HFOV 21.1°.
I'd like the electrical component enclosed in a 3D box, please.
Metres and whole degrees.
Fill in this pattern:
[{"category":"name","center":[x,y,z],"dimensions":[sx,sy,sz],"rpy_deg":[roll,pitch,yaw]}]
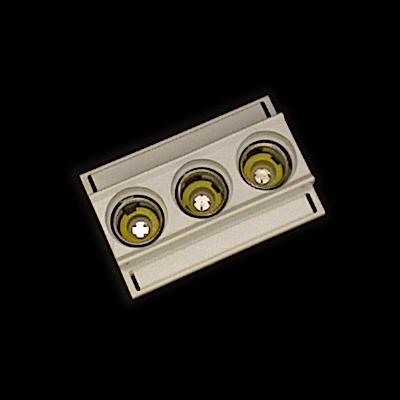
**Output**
[{"category":"electrical component","center":[0.000,0.000,0.637],"dimensions":[0.121,0.079,0.063],"rpy_deg":[-23,-14,-6]}]
